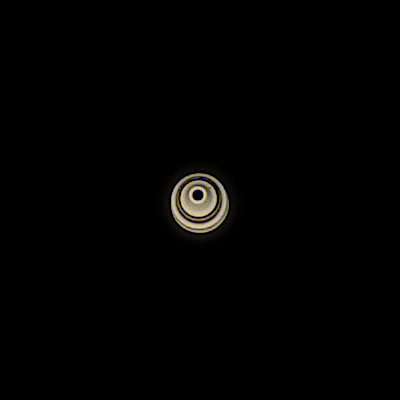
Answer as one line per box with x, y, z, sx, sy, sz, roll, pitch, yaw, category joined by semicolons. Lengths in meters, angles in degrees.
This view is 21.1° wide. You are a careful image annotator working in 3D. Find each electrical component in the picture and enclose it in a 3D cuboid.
0.000;0.000;0.637;0.035;0.035;0.061;0;-7;1;electrical component
